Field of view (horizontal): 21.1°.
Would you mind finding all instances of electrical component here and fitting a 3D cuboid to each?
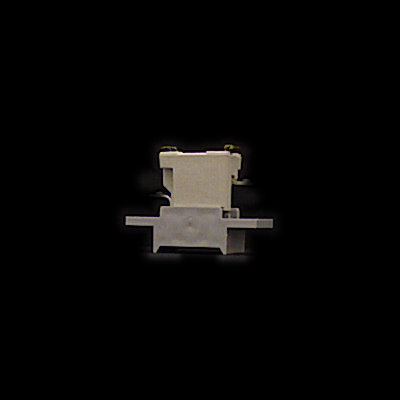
[{"bbox_3d":[0.000,0.000,0.649,0.081,0.064,0.042,2,1,16],"label":"electrical component"}]
